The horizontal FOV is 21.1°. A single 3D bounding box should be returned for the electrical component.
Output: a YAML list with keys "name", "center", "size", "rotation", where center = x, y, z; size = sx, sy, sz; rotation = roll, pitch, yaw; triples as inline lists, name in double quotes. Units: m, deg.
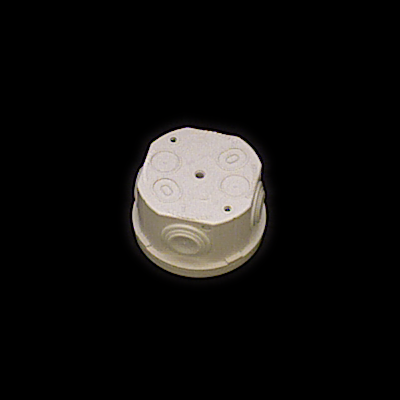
- name: "electrical component"
  center: [0.000, 0.000, 0.632]
  size: [0.080, 0.080, 0.051]
  rotation: [0, -37, -1]
